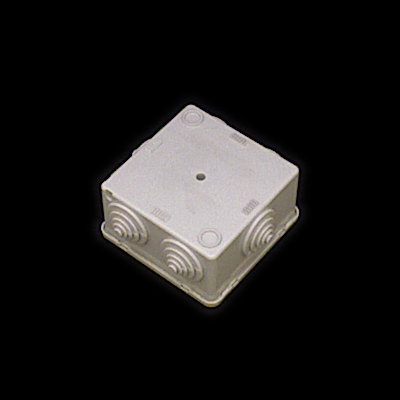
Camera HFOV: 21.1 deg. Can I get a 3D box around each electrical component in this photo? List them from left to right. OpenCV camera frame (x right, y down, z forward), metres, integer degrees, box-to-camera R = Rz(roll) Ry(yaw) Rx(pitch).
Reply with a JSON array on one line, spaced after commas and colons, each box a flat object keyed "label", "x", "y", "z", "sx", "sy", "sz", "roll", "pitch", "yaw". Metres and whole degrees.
[{"label": "electrical component", "x": 0.000, "y": 0.000, "z": 0.632, "sx": 0.099, "sy": 0.100, "sz": 0.049, "roll": 33, "pitch": -31, "yaw": 22}]
